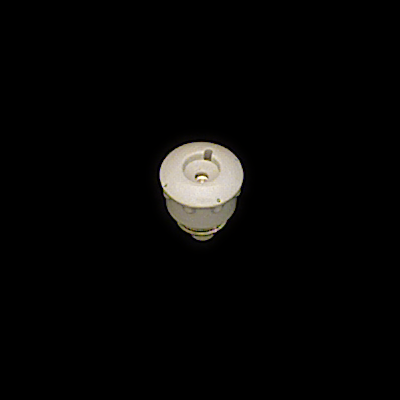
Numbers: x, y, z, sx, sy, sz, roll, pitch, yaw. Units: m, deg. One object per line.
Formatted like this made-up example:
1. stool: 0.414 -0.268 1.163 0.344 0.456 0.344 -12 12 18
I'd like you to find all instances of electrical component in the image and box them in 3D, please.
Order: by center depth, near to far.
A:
1. electrical component: 0.000 0.000 0.635 0.048 0.048 0.062 0 -37 0
